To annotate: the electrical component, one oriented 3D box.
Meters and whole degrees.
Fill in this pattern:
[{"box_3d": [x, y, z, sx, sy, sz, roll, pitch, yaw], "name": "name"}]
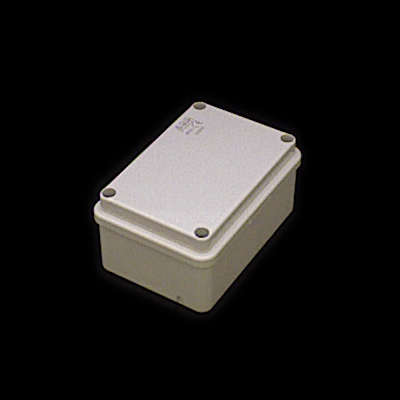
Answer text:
[{"box_3d": [0.000, 0.000, 0.632, 0.077, 0.057, 0.113, 23, 47, 23], "name": "electrical component"}]
